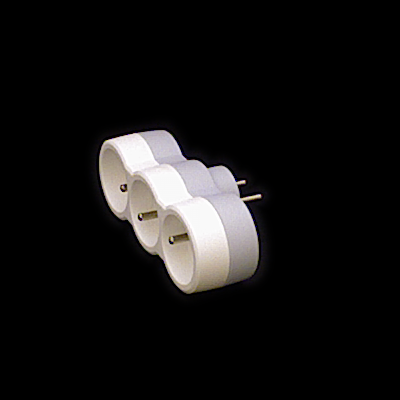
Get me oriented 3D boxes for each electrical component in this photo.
[{"bbox_3d":[0.000,0.000,0.639,0.074,0.053,0.136,-13,33,-25],"label":"electrical component"}]
